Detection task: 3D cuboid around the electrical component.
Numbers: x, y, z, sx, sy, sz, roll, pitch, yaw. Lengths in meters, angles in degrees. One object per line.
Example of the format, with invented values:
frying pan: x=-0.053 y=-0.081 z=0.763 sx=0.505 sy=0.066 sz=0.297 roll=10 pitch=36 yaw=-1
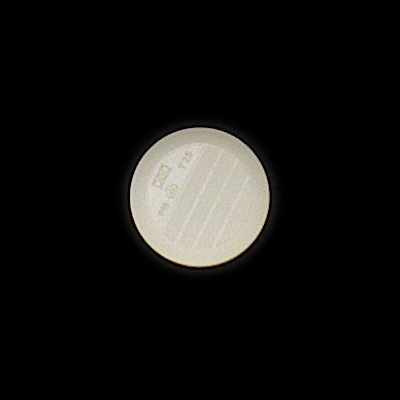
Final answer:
electrical component: x=0.000 y=0.000 z=0.631 sx=0.080 sy=0.080 sz=0.050 roll=0 pitch=-7 yaw=0
